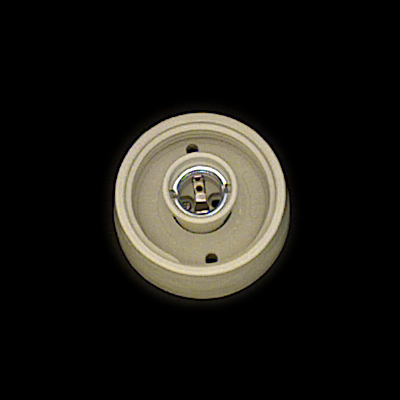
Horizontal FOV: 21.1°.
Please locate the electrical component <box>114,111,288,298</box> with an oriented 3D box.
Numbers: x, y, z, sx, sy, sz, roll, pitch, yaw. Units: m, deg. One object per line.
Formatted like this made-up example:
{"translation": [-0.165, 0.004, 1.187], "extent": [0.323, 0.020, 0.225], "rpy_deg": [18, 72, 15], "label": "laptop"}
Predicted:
{"translation": [0.000, 0.000, 0.633], "extent": [0.108, 0.108, 0.060], "rpy_deg": [0, -16, 0], "label": "electrical component"}
